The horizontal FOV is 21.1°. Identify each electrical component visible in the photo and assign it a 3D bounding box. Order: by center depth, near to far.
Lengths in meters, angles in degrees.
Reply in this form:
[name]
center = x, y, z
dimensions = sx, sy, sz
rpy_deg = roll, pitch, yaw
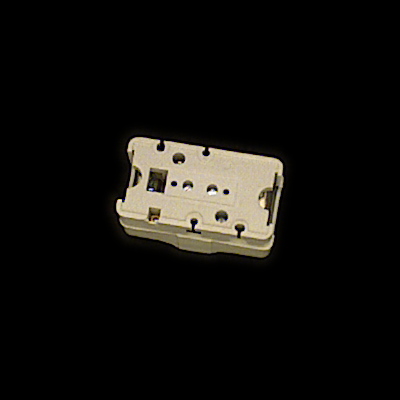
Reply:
[electrical component]
center = 0.000, 0.000, 0.636
dimensions = 0.089, 0.050, 0.055
rpy_deg = 9, -15, 3
